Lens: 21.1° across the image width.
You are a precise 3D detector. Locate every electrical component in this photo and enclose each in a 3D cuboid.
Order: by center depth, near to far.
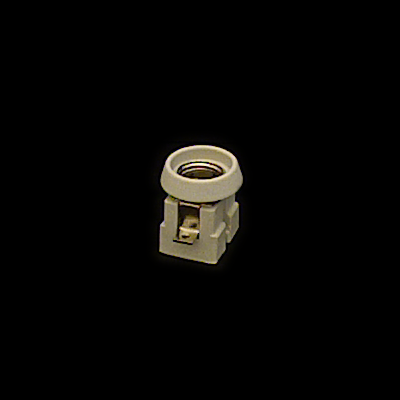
[{"bbox_3d":[0.000,0.000,0.642,0.048,0.056,0.066,9,33,16],"label":"electrical component"}]
